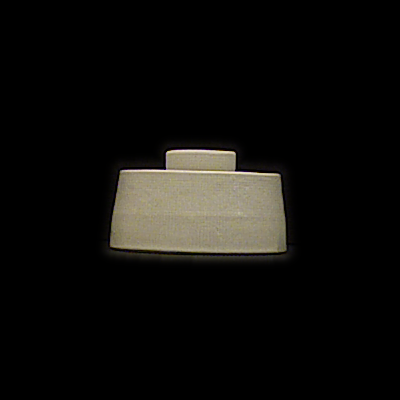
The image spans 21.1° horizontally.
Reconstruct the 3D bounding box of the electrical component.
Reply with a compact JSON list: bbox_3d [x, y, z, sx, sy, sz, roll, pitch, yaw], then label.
[{"bbox_3d":[0.000,0.000,0.657,0.108,0.060,0.108,1,1,0],"label":"electrical component"}]
